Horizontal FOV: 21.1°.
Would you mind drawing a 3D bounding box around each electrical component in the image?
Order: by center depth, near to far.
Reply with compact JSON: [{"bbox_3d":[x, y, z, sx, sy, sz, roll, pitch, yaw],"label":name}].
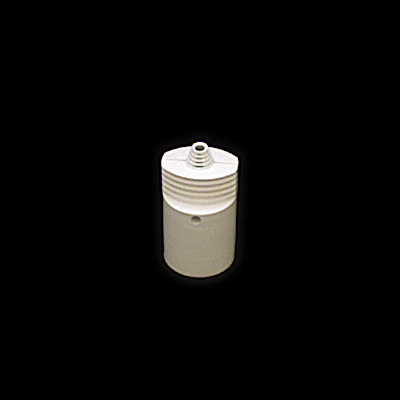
[{"bbox_3d":[0.000,0.000,0.623,0.043,0.082,0.042,0,42,0],"label":"electrical component"}]
